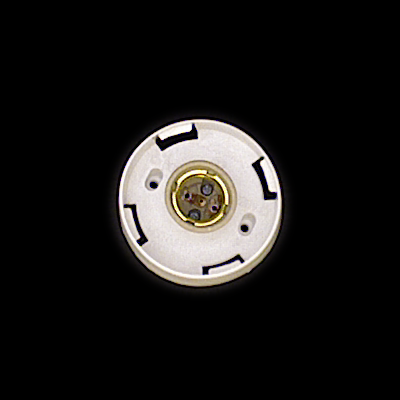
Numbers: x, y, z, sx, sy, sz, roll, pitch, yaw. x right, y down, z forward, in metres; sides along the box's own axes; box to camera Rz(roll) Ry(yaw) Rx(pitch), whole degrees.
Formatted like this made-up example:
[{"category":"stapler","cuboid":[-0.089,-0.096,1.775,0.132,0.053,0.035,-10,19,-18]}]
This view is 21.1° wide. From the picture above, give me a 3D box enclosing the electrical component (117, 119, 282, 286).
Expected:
[{"category":"electrical component","cuboid":[0.000,0.000,0.625,0.099,0.099,0.064,0,-7,0]}]
